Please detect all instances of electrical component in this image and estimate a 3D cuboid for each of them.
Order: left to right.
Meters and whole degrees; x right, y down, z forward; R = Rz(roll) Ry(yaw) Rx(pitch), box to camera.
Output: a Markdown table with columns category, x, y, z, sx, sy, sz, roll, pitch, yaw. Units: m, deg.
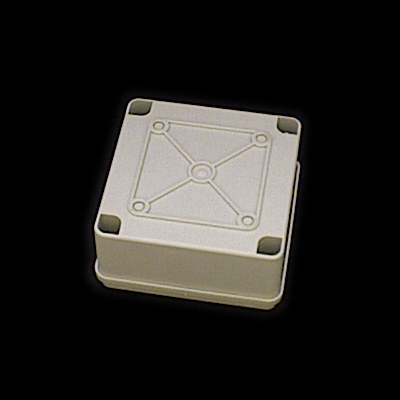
| category | x | y | z | sx | sy | sz | roll | pitch | yaw |
| --- | --- | --- | --- | --- | --- | --- | --- | --- | --- |
| electrical component | 0.000 | 0.000 | 0.631 | 0.108 | 0.108 | 0.056 | 8 | -37 | 5 |
